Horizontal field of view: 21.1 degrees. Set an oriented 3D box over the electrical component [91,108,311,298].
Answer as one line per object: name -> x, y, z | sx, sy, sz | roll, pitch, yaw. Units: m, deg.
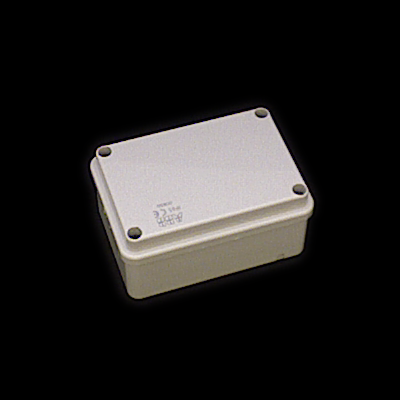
electrical component -> 0.000, 0.000, 0.627 | 0.113, 0.078, 0.057 | -15, -36, -12
